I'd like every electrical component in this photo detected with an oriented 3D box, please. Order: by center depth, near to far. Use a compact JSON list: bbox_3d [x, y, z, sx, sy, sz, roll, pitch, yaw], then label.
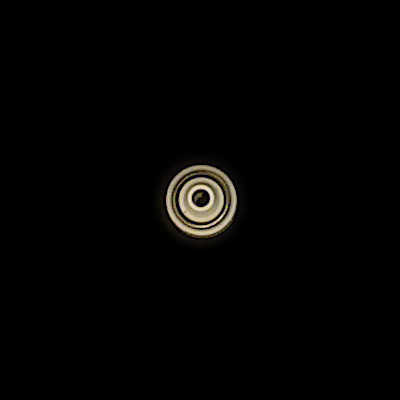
[{"bbox_3d":[0.000,0.000,0.634,0.043,0.043,0.062,0,-4,1],"label":"electrical component"}]
